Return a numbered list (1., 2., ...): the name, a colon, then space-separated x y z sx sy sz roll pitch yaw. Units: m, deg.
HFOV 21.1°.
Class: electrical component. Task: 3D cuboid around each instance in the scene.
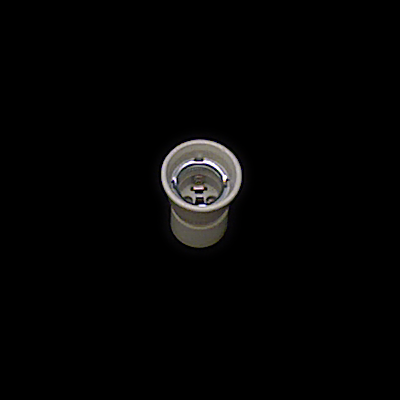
1. electrical component: 0.000 0.000 0.625 0.044 0.044 0.065 0 -27 -1
